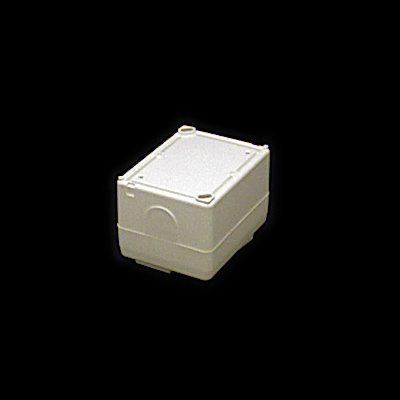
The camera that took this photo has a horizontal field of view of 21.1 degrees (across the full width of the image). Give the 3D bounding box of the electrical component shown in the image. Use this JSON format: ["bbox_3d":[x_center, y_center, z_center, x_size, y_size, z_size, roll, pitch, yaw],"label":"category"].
[{"bbox_3d":[0.000,0.000,0.641,0.061,0.062,0.095,16,34,24],"label":"electrical component"}]
